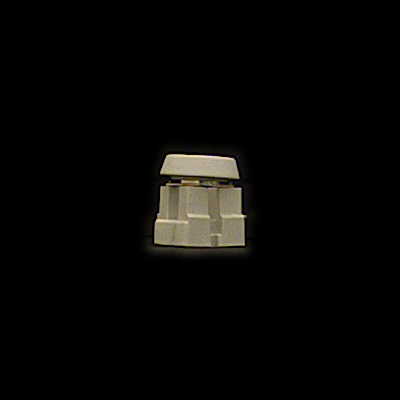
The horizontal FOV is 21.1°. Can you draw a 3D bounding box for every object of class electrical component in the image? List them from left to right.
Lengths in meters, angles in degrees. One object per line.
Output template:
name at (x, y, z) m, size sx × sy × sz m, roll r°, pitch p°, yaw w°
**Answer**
electrical component at (0.000, 0.000, 0.658) m, size 0.067 × 0.055 × 0.048 m, roll 0°, pitch 4°, yaw -35°
